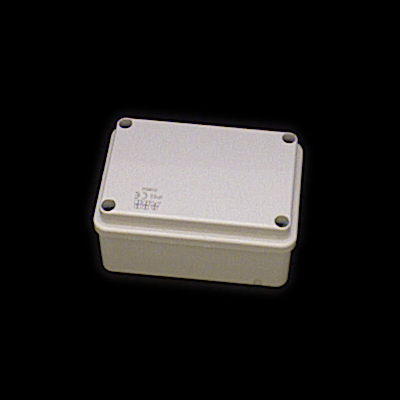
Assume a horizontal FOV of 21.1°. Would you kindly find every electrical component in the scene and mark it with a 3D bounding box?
[{"bbox_3d":[0.000,0.000,0.627,0.113,0.078,0.057,5,-37,3],"label":"electrical component"}]
